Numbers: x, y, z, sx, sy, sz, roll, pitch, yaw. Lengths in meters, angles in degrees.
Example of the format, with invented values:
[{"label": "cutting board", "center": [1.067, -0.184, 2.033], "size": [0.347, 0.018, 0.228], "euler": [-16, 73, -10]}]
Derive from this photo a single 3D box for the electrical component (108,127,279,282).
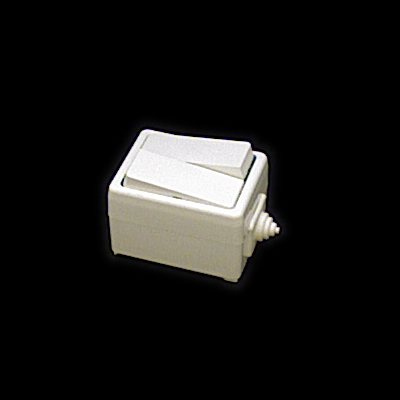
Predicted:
[{"label": "electrical component", "center": [0.000, 0.000, 0.630], "size": [0.096, 0.061, 0.061], "euler": [12, 43, 13]}]
